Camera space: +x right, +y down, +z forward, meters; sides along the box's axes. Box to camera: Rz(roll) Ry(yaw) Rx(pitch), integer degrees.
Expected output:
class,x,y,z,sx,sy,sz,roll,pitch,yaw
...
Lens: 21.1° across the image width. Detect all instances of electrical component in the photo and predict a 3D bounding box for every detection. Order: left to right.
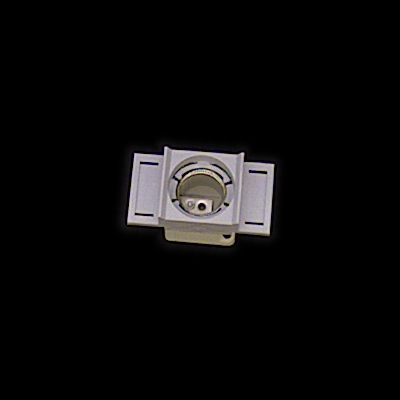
class,x,y,z,sx,sy,sz,roll,pitch,yaw
electrical component,0.000,0.000,0.624,0.081,0.042,0.063,5,-15,1
